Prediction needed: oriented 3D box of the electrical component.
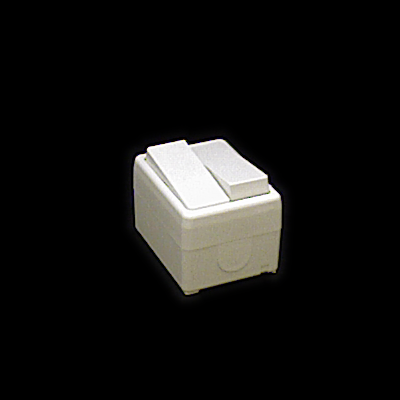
[{"bbox_3d":[0.000,0.000,0.636,0.062,0.061,0.095,-12,34,-21],"label":"electrical component"}]
